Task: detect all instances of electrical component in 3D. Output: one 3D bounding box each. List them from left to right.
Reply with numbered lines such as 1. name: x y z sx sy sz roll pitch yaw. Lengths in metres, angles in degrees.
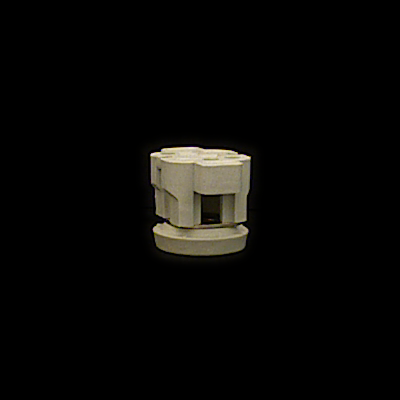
1. electrical component: 0.000 0.000 0.652 0.058 0.057 0.077 -4 11 -22
